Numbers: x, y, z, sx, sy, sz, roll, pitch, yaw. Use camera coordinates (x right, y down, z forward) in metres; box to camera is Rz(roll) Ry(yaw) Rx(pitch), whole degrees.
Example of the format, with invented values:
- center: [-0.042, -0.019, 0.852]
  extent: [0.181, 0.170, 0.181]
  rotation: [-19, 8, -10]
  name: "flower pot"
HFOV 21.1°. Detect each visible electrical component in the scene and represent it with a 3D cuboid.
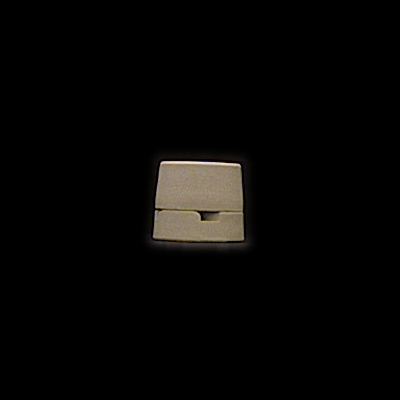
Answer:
- center: [0.000, 0.000, 0.649]
  extent: [0.055, 0.047, 0.055]
  rotation: [2, 2, 0]
  name: "electrical component"
